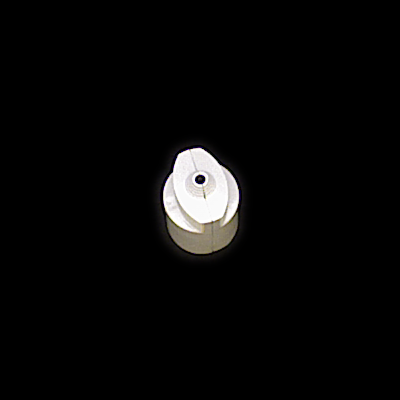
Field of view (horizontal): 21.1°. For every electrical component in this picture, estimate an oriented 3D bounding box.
[{"bbox_3d":[0.000,0.000,0.616,0.043,0.043,0.080,0,-17,1],"label":"electrical component"}]
